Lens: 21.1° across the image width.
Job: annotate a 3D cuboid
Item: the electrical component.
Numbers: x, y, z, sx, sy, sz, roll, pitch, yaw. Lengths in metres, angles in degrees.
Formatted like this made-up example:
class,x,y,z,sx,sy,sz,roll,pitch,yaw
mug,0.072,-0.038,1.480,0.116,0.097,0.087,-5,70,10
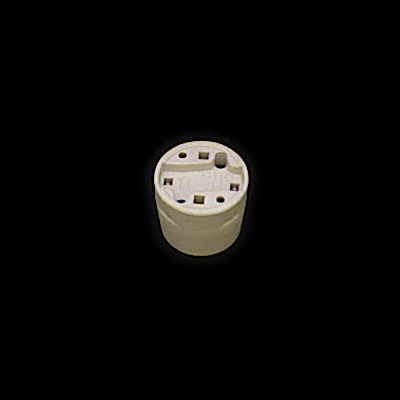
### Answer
class,x,y,z,sx,sy,sz,roll,pitch,yaw
electrical component,0.000,0.000,0.635,0.055,0.055,0.047,0,-38,0
